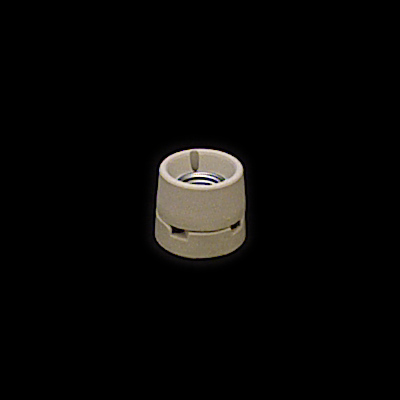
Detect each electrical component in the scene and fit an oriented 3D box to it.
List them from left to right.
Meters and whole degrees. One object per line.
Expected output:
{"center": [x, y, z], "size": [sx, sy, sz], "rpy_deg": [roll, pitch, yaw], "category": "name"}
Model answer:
{"center": [0.000, 0.000, 0.639], "size": [0.055, 0.047, 0.055], "rpy_deg": [1, 30, 0], "category": "electrical component"}
